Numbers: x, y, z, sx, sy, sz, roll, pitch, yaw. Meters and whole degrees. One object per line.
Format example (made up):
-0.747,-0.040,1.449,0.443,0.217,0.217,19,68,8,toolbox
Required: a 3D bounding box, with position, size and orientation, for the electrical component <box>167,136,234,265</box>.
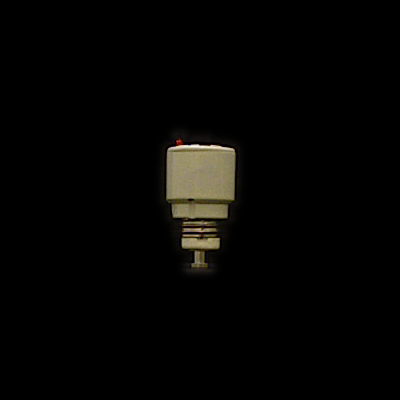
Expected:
0.000,0.000,0.651,0.040,0.078,0.040,1,1,0,electrical component
